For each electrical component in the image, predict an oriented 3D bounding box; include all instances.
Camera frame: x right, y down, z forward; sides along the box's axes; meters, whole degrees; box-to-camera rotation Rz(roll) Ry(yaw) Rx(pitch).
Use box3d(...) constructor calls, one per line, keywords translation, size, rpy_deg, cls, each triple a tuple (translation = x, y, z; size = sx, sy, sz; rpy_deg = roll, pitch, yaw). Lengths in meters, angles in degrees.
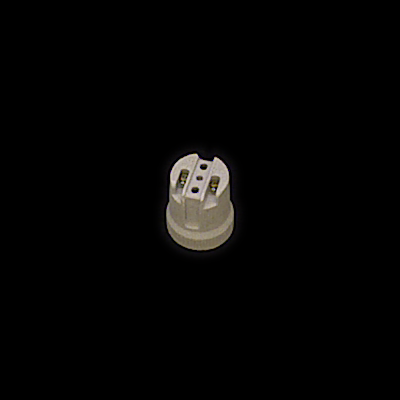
box3d(translation=(0.000, 0.000, 0.633), size=(0.040, 0.040, 0.046), rpy_deg=(0, -38, 0), cls="electrical component")
